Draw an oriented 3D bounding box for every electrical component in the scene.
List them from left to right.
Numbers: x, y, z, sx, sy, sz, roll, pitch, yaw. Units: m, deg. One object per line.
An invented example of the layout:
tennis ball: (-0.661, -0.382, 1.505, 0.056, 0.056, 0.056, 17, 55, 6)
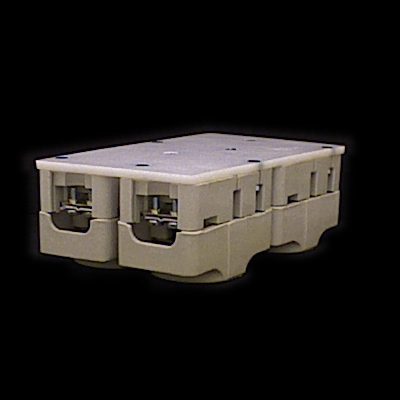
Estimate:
electrical component: (0.000, 0.000, 0.644, 0.105, 0.061, 0.185, 7, 12, 31)
